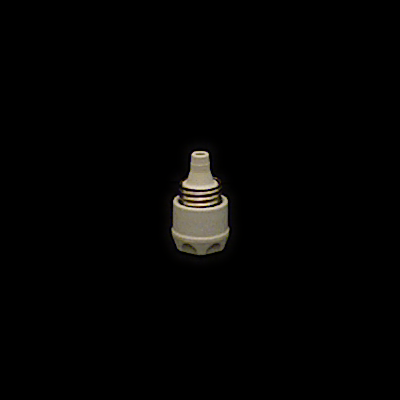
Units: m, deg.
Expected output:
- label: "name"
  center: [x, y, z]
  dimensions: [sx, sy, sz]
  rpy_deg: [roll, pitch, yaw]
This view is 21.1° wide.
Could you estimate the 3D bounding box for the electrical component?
- label: "electrical component"
  center: [0.000, 0.000, 0.649]
  dimensions: [0.035, 0.062, 0.035]
  rpy_deg: [0, 21, 0]
